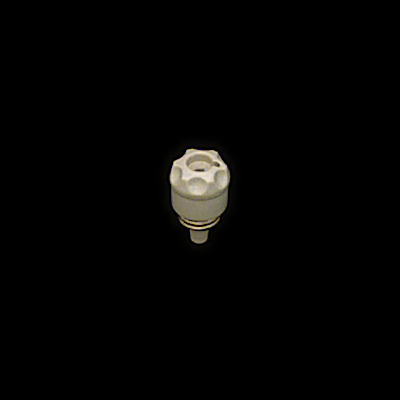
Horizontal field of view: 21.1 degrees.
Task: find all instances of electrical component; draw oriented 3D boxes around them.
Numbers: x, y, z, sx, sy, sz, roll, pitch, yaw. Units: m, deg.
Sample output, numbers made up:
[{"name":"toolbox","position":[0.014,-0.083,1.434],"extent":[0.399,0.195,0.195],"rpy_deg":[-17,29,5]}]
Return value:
[{"name":"electrical component","position":[0.000,0.000,0.637],"extent":[0.035,0.062,0.035],"rpy_deg":[1,43,0]}]
